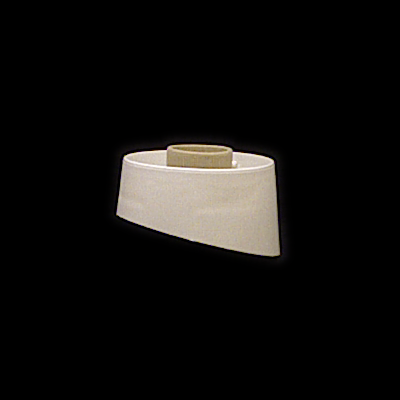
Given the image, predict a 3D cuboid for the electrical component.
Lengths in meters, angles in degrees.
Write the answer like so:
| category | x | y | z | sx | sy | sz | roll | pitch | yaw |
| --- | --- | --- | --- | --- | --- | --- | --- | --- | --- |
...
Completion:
| category | x | y | z | sx | sy | sz | roll | pitch | yaw |
| --- | --- | --- | --- | --- | --- | --- | --- | --- | --- |
| electrical component | 0.000 | 0.000 | 0.643 | 0.099 | 0.064 | 0.098 | 2 | 10 | 0 |
